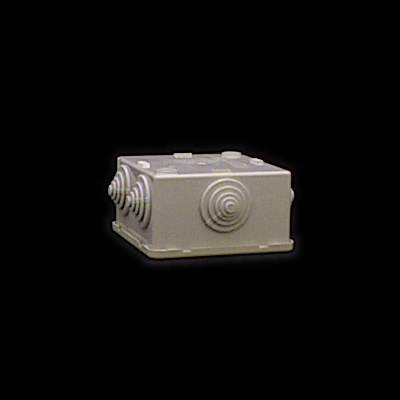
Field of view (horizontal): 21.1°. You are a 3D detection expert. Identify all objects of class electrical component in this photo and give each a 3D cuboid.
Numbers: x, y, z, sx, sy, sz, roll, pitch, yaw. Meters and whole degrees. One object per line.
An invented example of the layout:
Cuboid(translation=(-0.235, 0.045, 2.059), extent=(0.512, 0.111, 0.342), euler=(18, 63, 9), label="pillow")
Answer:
Cuboid(translation=(0.000, 0.000, 0.646), extent=(0.100, 0.049, 0.099), euler=(-2, 11, -19), label="electrical component")
